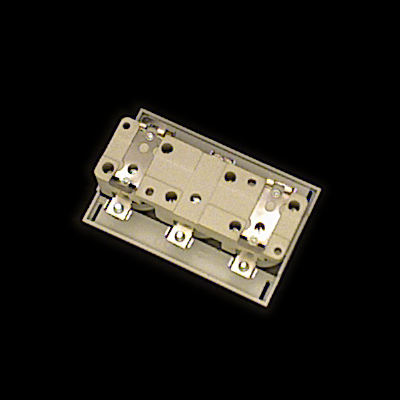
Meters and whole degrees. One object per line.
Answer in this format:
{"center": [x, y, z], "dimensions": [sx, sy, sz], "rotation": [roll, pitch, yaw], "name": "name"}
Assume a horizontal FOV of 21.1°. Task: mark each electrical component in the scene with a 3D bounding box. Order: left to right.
{"center": [0.000, 0.000, 0.635], "dimensions": [0.121, 0.079, 0.063], "rotation": [24, -15, 7], "name": "electrical component"}
